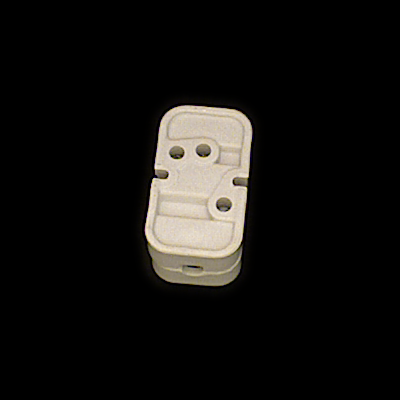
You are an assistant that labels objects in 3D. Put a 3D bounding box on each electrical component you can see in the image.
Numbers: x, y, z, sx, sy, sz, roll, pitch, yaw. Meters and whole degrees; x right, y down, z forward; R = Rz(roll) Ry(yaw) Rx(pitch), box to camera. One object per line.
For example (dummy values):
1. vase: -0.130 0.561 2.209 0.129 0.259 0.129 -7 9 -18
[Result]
1. electrical component: 0.000 0.000 0.634 0.053 0.095 0.059 5 -26 3
